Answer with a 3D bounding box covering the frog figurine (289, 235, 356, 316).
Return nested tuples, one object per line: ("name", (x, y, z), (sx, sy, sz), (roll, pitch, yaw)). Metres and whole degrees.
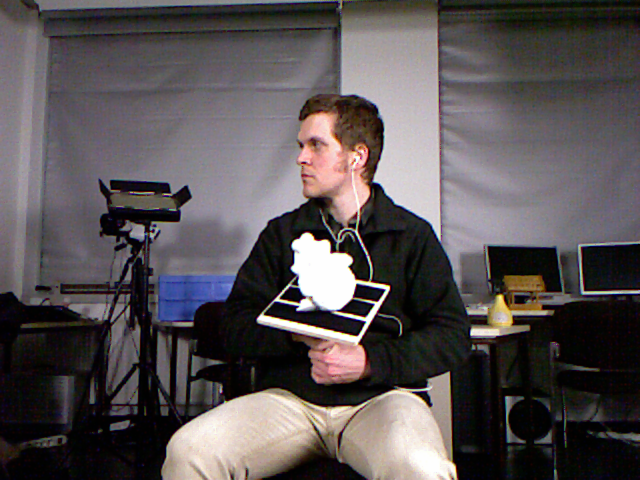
("frog figurine", (0.007, 0.061, 0.984), (0.139, 0.156, 0.124), (-26, 39, -31))
